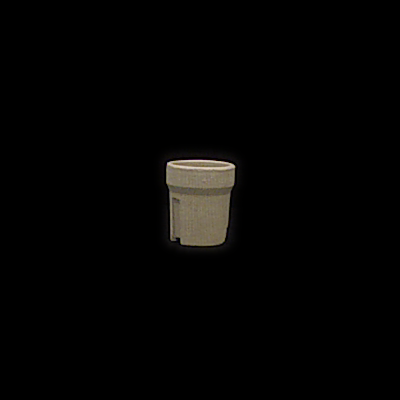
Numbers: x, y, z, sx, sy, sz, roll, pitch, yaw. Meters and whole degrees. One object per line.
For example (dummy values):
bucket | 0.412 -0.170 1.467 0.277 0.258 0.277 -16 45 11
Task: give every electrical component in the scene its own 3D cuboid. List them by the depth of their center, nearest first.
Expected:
electrical component | 0.000 0.000 0.645 0.040 0.046 0.040 1 11 0
